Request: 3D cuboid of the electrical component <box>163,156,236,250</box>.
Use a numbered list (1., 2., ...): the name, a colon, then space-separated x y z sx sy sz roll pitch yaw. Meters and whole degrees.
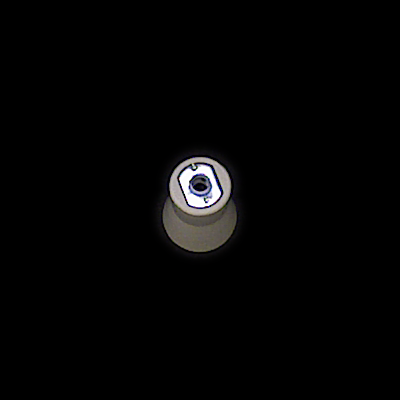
1. electrical component: 0.000 0.000 0.625 0.044 0.044 0.065 0 -17 -1
